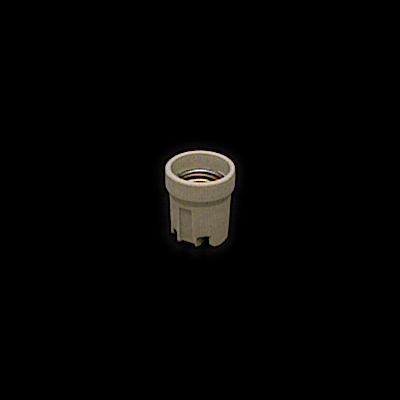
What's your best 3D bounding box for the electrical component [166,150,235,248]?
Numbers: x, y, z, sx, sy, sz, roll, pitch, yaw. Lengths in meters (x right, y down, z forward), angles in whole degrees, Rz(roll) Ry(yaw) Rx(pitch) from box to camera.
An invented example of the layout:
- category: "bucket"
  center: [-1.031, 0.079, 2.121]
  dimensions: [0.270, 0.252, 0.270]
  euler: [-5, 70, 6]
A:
- category: "electrical component"
  center: [0.000, 0.000, 0.634]
  dimensions: [0.040, 0.047, 0.039]
  euler: [1, 32, 0]
